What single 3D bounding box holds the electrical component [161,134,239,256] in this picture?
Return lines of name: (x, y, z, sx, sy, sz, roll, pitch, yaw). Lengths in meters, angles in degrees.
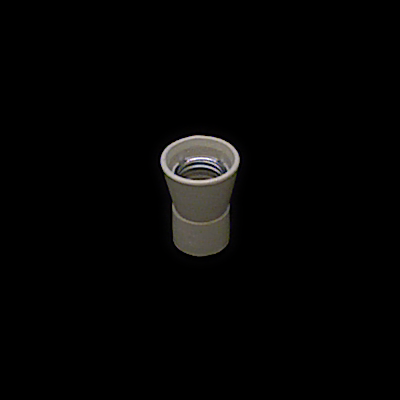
electrical component: (0.000, 0.000, 0.630, 0.044, 0.066, 0.044, 0, 41, 0)
